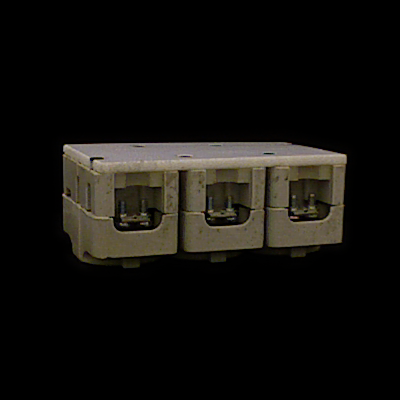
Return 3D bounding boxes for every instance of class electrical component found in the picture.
[{"bbox_3d":[0.000,0.000,0.647,0.150,0.062,0.088,-3,10,-20],"label":"electrical component"}]
